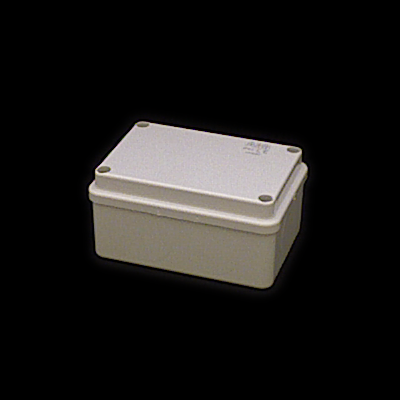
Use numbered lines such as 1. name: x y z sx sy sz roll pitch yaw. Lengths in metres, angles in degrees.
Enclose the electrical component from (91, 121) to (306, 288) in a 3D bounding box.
1. electrical component: 0.000 0.000 0.637 0.113 0.058 0.077 10 32 15
